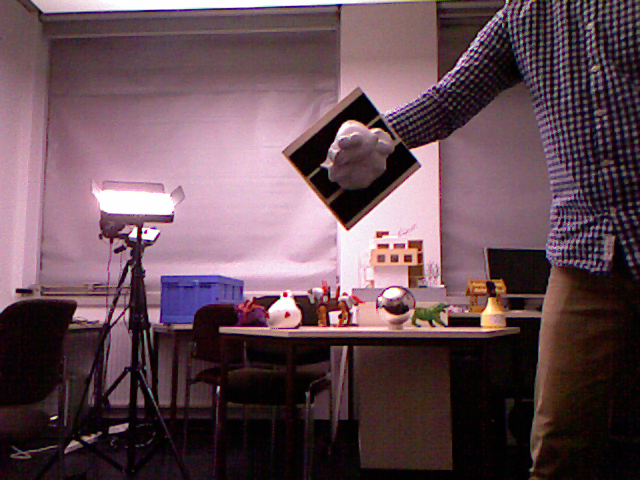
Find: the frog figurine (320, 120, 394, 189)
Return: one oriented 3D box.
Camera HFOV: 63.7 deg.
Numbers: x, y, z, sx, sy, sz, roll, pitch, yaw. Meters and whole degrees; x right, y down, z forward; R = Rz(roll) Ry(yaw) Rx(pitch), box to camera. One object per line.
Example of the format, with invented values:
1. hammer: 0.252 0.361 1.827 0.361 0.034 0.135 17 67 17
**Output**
1. frog figurine: 0.074 -0.158 0.946 0.138 0.122 0.159 -22 4 -8
